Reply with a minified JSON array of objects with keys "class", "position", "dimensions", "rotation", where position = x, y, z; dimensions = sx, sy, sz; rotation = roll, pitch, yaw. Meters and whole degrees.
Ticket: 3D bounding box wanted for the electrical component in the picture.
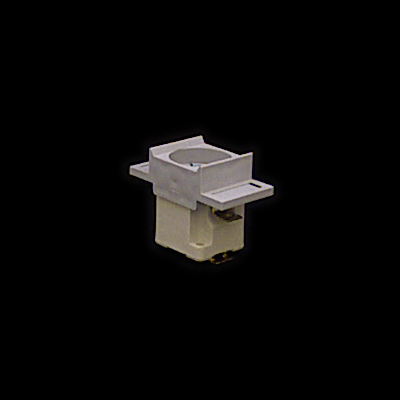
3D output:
[{"class":"electrical component","position":[0.000,0.000,0.639],"dimensions":[0.042,0.064,0.080],"rotation":[-19,29,-39]}]
